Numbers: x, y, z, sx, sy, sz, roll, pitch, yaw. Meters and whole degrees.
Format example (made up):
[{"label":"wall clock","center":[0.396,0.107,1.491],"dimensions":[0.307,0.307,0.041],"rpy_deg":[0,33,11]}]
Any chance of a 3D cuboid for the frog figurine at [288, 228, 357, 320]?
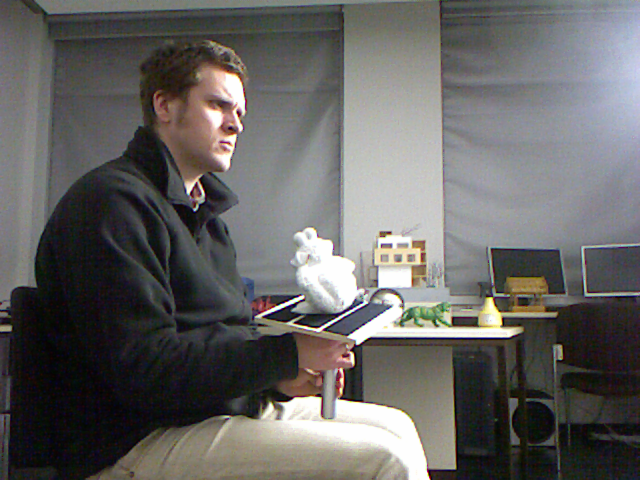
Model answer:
[{"label":"frog figurine","center":[0.007,0.057,0.935],"dimensions":[0.138,0.158,0.124],"rpy_deg":[-11,19,-34]}]
